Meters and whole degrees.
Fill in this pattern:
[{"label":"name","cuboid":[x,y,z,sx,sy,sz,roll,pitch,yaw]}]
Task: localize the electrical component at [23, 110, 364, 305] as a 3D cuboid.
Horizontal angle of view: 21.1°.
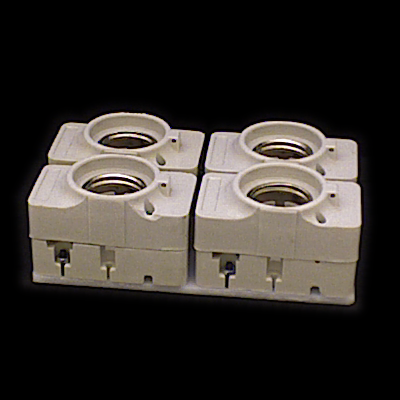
[{"label":"electrical component","cuboid":[0.000,0.000,0.635,0.186,0.061,0.104,4,31,4]}]
